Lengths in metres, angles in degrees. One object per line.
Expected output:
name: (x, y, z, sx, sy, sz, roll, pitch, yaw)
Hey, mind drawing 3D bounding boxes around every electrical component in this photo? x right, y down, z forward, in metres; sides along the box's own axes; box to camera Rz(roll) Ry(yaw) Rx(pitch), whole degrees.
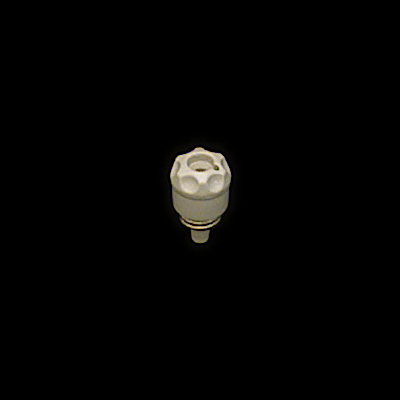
electrical component: (0.000, 0.000, 0.636, 0.035, 0.062, 0.035, 0, 43, 0)
